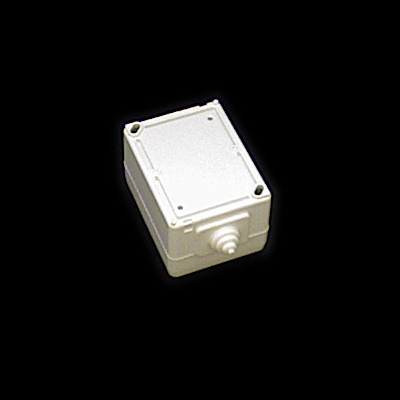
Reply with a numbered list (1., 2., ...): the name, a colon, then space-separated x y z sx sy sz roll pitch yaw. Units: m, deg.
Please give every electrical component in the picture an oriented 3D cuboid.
1. electrical component: -0.001 0.000 0.624 0.062 0.096 0.061 -17 -36 -14
